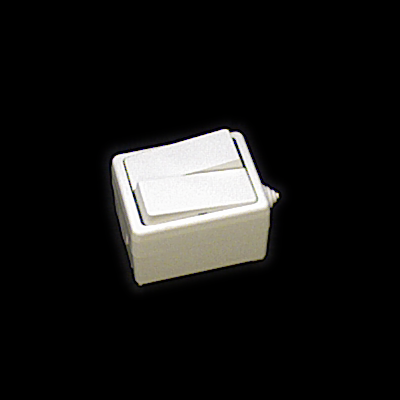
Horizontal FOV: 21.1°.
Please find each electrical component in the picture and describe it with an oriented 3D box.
[{"bbox_3d":[0.000,0.000,0.629,0.096,0.061,0.061,-12,-37,-9],"label":"electrical component"}]
